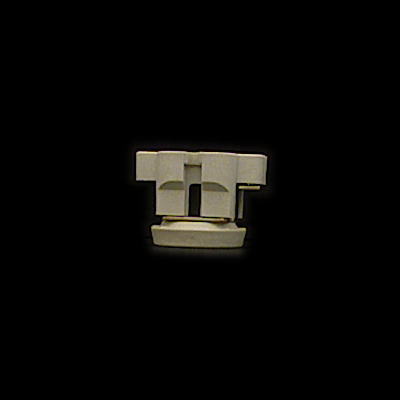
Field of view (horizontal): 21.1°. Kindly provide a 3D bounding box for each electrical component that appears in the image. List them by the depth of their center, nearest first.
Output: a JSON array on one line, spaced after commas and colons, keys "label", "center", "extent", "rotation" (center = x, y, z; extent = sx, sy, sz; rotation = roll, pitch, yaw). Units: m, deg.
[{"label": "electrical component", "center": [0.000, 0.000, 0.658], "extent": [0.078, 0.057, 0.058], "rotation": [3, 1, 10]}]
